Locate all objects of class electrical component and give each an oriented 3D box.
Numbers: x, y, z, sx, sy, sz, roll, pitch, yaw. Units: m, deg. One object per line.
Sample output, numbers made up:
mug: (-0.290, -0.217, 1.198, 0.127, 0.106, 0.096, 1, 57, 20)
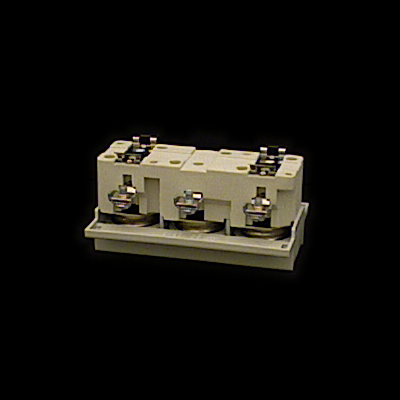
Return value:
electrical component: (0.000, 0.000, 0.649, 0.121, 0.064, 0.078, 6, 21, 11)
